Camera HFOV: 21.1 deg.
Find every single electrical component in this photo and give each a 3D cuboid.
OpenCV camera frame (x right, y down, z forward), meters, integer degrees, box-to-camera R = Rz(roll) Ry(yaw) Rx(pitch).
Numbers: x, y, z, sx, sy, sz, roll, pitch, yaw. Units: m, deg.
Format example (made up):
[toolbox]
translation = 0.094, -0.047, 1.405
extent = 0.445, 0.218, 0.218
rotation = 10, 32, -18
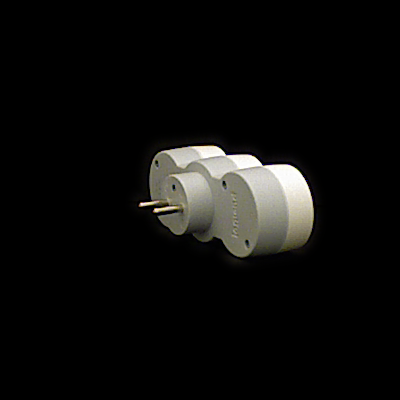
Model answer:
[electrical component]
translation = 0.000, 0.000, 0.651
extent = 0.074, 0.052, 0.136
rotation = -7, 14, -29
